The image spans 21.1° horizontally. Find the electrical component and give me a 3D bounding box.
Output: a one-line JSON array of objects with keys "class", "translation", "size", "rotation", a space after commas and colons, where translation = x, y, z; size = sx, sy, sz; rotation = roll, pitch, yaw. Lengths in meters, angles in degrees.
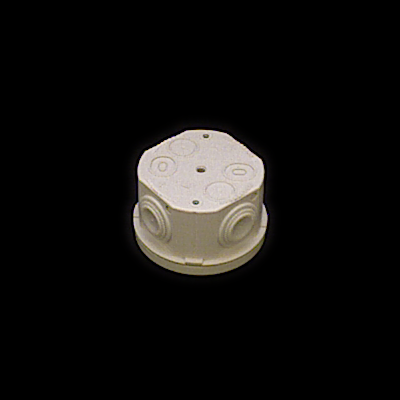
[{"class": "electrical component", "translation": [0.000, 0.000, 0.633], "size": [0.080, 0.051, 0.080], "rotation": [1, 43, 0]}]
